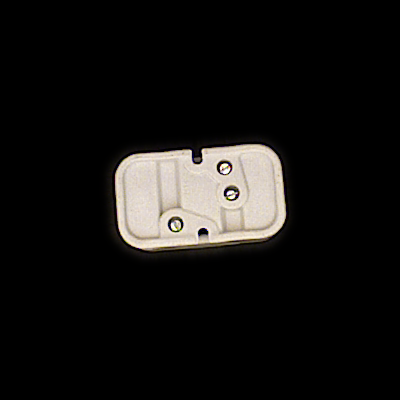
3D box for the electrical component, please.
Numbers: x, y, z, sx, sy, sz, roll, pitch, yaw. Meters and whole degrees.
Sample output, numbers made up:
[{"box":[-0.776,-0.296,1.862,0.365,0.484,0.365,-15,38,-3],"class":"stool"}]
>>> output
[{"box":[0.000,0.000,0.637,0.095,0.054,0.059,-5,-6,0],"class":"electrical component"}]
